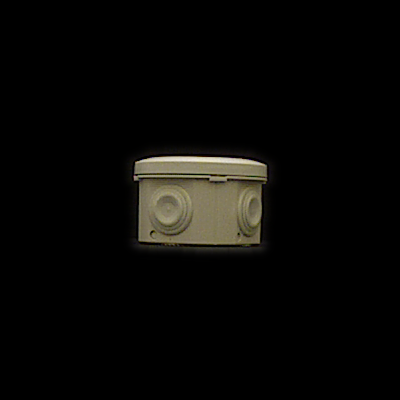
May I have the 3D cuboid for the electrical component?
[{"bbox_3d":[0.000,0.000,0.647,0.080,0.051,0.080,1,0,0],"label":"electrical component"}]
